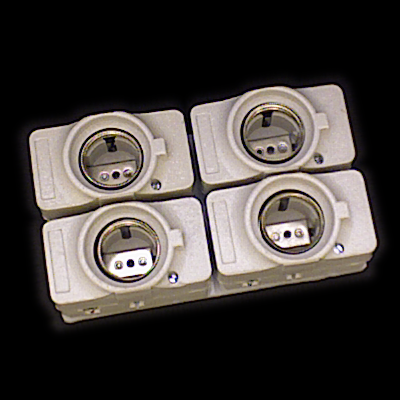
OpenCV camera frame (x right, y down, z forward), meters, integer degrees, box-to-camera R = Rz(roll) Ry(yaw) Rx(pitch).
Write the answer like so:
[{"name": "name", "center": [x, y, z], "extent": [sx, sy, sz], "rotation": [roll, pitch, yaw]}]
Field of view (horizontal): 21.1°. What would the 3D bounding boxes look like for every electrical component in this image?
[{"name": "electrical component", "center": [0.000, 0.000, 0.626], "extent": [0.186, 0.106, 0.060], "rotation": [-9, -17, -3]}]
